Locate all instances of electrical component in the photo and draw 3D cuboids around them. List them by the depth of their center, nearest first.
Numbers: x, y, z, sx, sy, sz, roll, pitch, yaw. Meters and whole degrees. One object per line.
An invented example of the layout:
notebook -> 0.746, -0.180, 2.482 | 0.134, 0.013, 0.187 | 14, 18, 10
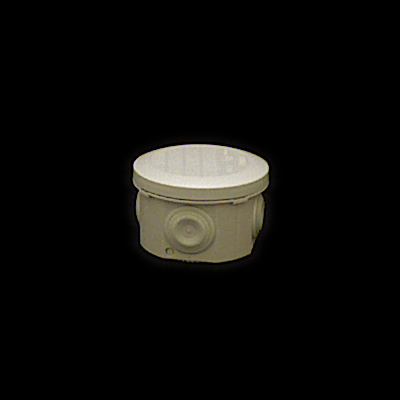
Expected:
electrical component -> 0.000, 0.000, 0.638 | 0.080, 0.051, 0.079 | 1, 21, 0
